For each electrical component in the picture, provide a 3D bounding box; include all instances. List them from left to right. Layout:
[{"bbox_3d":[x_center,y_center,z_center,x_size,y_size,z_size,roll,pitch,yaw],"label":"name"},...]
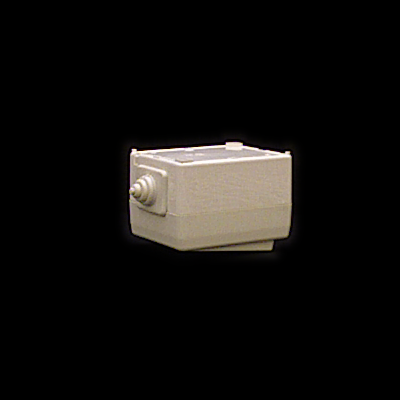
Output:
[{"bbox_3d":[0.000,0.000,0.646,0.096,0.061,0.061,-6,13,-33],"label":"electrical component"}]
